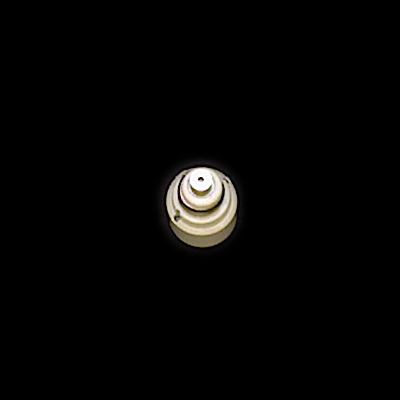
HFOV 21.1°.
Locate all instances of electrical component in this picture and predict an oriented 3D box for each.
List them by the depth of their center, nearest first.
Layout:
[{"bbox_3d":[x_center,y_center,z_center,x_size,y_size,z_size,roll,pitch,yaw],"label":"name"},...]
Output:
[{"bbox_3d":[0.000,0.000,0.618,0.040,0.040,0.078,0,-16,1],"label":"electrical component"}]
